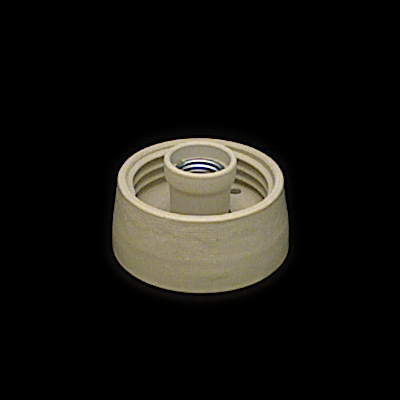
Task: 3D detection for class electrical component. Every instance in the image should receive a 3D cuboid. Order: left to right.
[{"bbox_3d":[0.000,0.000,0.641,0.108,0.061,0.106,1,32,0],"label":"electrical component"}]
